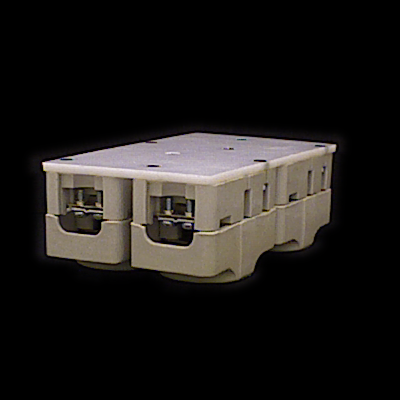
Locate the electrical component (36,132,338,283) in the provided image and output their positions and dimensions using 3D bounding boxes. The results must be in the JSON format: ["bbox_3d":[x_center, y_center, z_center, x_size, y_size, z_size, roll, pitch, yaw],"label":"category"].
[{"bbox_3d":[0.000,0.000,0.644,0.105,0.061,0.185,6,11,26],"label":"electrical component"}]
